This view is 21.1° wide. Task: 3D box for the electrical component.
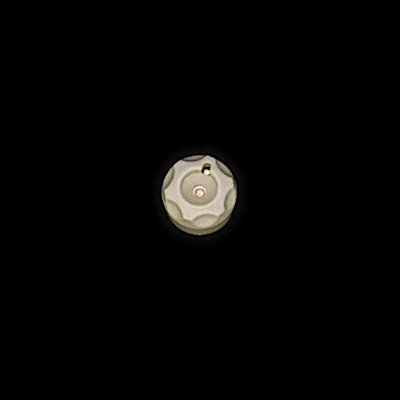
[{"bbox_3d":[0.000,0.000,0.633,0.043,0.043,0.061,0,-15,0],"label":"electrical component"}]
